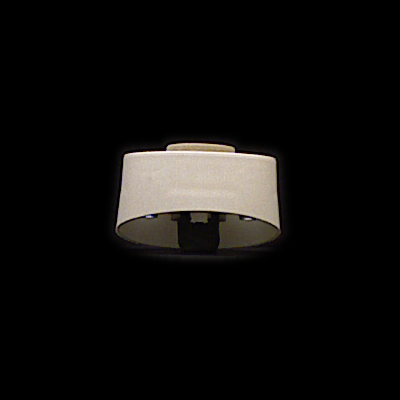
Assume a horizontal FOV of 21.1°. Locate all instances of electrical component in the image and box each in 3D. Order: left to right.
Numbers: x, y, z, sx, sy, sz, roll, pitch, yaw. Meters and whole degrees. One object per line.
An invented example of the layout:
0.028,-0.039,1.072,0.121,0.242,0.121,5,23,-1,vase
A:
0.000,0.000,0.649,0.099,0.064,0.099,1,-1,0,electrical component
